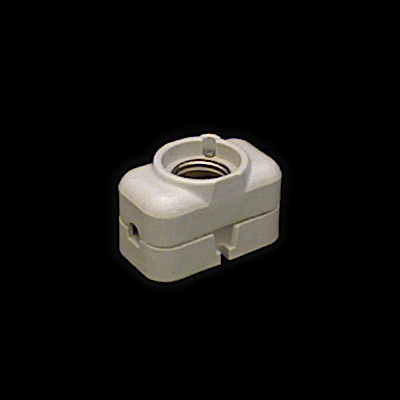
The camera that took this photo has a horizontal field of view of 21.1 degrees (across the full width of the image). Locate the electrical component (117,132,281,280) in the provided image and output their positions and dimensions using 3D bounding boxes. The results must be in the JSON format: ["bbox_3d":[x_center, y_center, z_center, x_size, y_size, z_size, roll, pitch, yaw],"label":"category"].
[{"bbox_3d":[0.000,0.000,0.642,0.095,0.060,0.053,-20,38,-30],"label":"electrical component"}]
